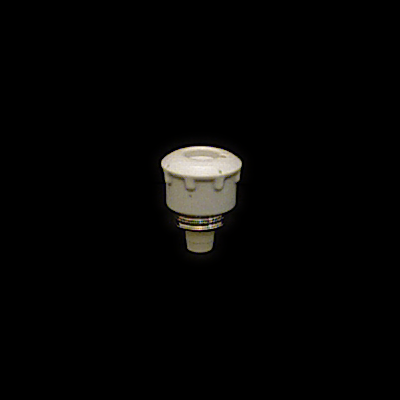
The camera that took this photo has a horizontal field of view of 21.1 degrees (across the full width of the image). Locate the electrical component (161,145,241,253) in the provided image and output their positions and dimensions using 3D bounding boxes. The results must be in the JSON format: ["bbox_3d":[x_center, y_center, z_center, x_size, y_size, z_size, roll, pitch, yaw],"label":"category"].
[{"bbox_3d":[0.000,0.000,0.648,0.048,0.063,0.047,1,22,0],"label":"electrical component"}]
